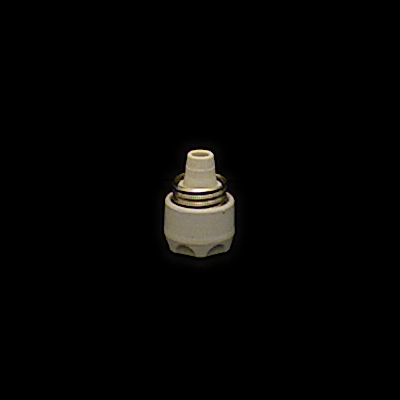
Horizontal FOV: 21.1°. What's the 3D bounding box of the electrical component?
[{"bbox_3d":[0.000,0.000,0.645,0.043,0.063,0.043,1,23,0],"label":"electrical component"}]
